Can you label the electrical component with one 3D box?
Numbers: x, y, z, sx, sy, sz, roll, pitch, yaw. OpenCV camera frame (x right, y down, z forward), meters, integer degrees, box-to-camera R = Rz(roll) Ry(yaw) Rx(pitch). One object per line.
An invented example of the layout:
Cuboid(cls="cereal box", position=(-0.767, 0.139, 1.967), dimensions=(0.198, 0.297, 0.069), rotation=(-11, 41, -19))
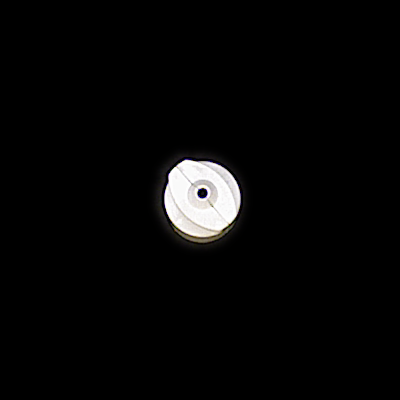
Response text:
Cuboid(cls="electrical component", position=(0.000, 0.000, 0.616), dimensions=(0.043, 0.043, 0.080), rotation=(0, -6, 1))
